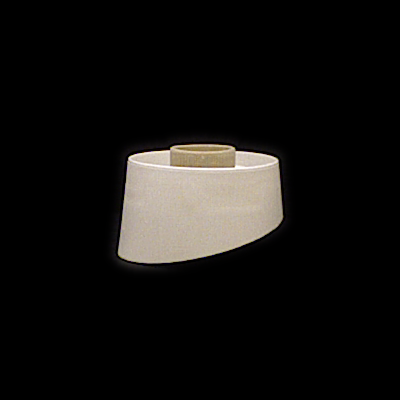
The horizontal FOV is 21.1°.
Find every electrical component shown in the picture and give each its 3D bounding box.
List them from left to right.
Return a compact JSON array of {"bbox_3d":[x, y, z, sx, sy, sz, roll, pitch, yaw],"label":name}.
[{"bbox_3d":[0.000,0.000,0.645,0.099,0.064,0.098,1,11,0],"label":"electrical component"}]
